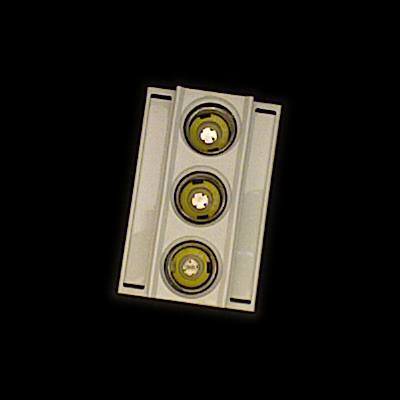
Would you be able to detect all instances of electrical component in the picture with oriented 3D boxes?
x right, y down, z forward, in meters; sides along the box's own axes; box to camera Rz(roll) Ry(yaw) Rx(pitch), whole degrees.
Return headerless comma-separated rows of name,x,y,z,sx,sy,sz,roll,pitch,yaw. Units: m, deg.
electrical component,0.000,0.000,0.637,0.079,0.121,0.063,8,-6,0
